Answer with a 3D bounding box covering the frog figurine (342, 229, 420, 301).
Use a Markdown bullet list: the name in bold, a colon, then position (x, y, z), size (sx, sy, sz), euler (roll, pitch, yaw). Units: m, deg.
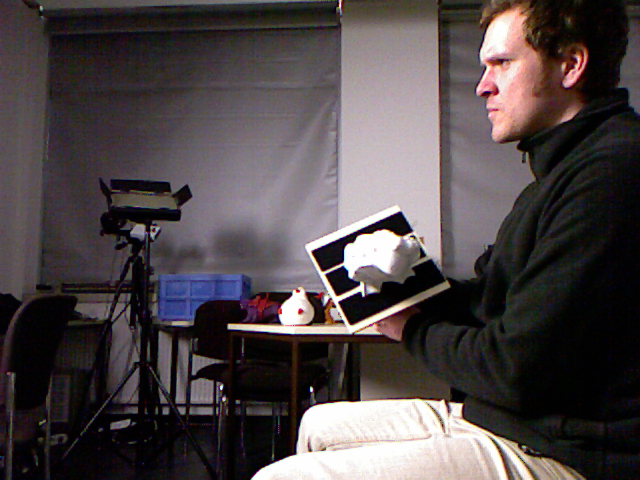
- **frog figurine**: position (0.107, 0.022, 0.901), size (0.138, 0.126, 0.156), euler (-7, -30, -2)
